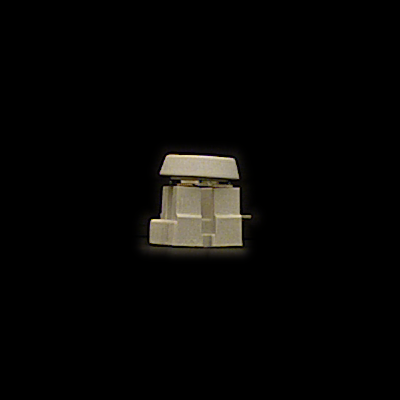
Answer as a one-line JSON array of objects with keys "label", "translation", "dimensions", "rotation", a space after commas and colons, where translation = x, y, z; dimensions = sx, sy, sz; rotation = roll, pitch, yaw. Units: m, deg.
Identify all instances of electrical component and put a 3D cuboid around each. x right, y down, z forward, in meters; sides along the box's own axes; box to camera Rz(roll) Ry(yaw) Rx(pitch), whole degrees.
[{"label": "electrical component", "translation": [0.000, 0.000, 0.658], "dimensions": [0.067, 0.055, 0.048], "rotation": [1, 4, -20]}]
